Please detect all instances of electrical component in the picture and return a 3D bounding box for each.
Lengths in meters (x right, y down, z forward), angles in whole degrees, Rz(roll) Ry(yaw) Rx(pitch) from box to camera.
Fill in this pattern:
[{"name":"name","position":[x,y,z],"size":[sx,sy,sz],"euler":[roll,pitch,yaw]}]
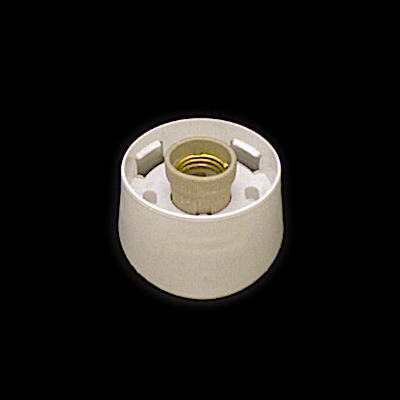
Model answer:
[{"name":"electrical component","position":[0.000,0.000,0.630],"size":[0.099,0.065,0.098],"euler":[1,42,0]}]
